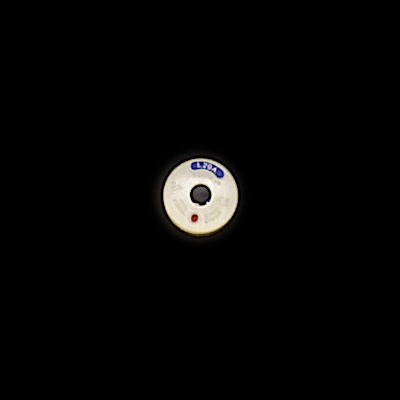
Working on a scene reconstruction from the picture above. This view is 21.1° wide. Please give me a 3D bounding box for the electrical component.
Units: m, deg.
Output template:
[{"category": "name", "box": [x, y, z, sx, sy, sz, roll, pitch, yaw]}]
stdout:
[{"category": "electrical component", "box": [0.000, 0.000, 0.617, 0.040, 0.040, 0.078, 0, -5, 1]}]
